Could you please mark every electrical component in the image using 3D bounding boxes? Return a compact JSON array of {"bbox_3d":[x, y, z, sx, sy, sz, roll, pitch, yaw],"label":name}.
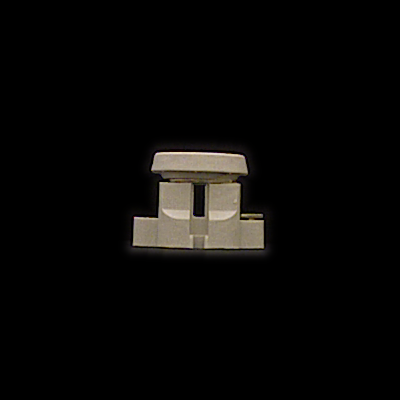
[{"bbox_3d":[0.000,0.000,0.650,0.078,0.057,0.058,1,1,0],"label":"electrical component"}]
